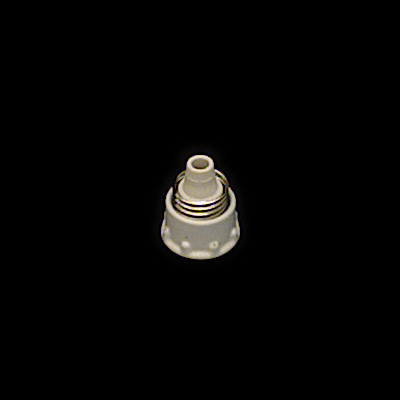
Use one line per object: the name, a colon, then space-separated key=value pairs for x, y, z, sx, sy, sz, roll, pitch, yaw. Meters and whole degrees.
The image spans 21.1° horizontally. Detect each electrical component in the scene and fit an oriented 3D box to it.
electrical component: x=0.000 y=0.000 z=0.636 sx=0.048 sy=0.062 sz=0.047 roll=0 pitch=44 yaw=0
